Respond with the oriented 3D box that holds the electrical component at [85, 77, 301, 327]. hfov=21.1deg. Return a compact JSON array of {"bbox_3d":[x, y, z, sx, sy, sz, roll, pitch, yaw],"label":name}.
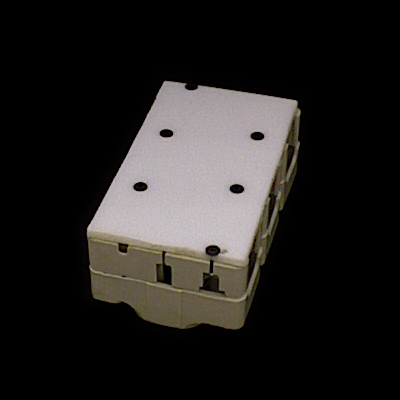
[{"bbox_3d":[0.000,0.000,0.639,0.089,0.063,0.147,11,42,11],"label":"electrical component"}]
